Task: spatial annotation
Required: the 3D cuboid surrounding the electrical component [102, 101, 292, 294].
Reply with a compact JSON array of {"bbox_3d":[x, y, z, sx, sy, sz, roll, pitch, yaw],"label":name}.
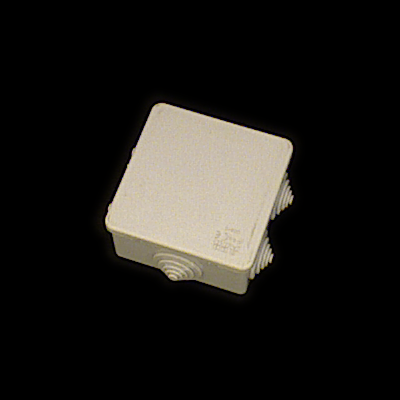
[{"bbox_3d":[0.000,0.000,0.639,0.099,0.100,0.048,17,-25,8],"label":"electrical component"}]
